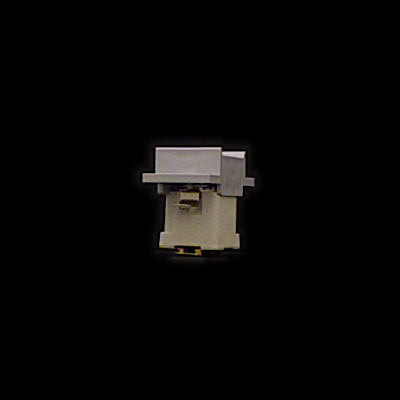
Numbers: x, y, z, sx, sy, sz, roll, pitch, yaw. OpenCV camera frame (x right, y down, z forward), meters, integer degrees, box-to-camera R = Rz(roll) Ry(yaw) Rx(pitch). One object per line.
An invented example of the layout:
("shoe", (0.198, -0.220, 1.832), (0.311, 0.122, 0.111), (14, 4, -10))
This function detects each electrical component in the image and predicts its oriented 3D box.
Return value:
("electrical component", (0.000, 0.000, 0.652), (0.042, 0.064, 0.081), (1, 1, 22))
